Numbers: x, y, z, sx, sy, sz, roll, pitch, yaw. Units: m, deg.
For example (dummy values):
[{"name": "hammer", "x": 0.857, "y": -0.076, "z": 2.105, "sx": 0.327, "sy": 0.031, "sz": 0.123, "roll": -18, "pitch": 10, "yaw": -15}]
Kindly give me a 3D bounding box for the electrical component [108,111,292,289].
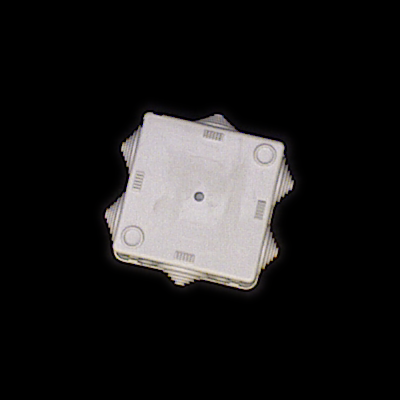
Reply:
[{"name": "electrical component", "x": 0.000, "y": 0.000, "z": 0.633, "sx": 0.100, "sy": 0.100, "sz": 0.048, "roll": 13, "pitch": -7, "yaw": 1}]
